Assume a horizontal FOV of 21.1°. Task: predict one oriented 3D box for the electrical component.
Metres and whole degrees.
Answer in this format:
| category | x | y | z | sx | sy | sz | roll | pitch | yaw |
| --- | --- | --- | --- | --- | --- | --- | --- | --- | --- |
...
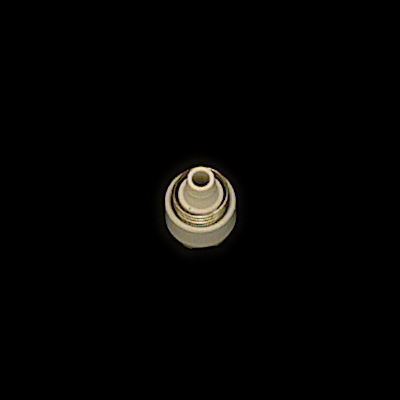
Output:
| category | x | y | z | sx | sy | sz | roll | pitch | yaw |
| --- | --- | --- | --- | --- | --- | --- | --- | --- | --- |
| electrical component | 0.000 | 0.000 | 0.633 | 0.043 | 0.043 | 0.062 | 0 | -25 | 0 |
